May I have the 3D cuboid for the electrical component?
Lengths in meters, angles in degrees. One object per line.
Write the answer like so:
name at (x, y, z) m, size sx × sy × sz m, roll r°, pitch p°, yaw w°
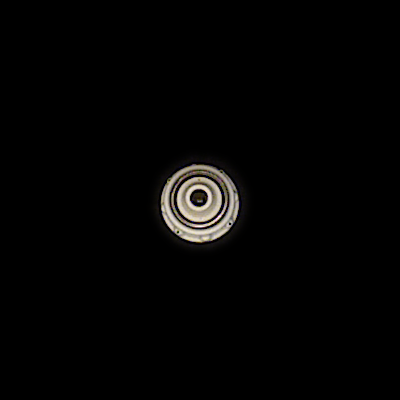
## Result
electrical component at (0.000, 0.000, 0.635) m, size 0.048 × 0.048 × 0.062 m, roll 0°, pitch -4°, yaw 0°
